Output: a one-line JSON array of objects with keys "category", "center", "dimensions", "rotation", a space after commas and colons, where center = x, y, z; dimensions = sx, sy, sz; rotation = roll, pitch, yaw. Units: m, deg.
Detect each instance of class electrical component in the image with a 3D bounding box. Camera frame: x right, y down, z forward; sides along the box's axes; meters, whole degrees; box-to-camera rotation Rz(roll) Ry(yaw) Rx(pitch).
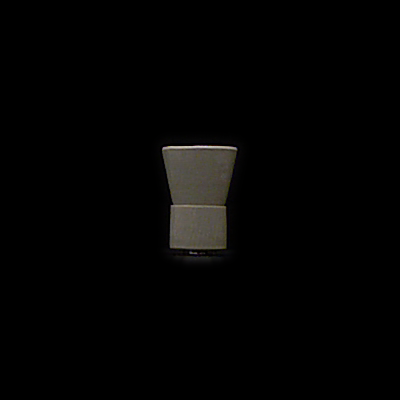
[{"category": "electrical component", "center": [0.000, 0.000, 0.647], "dimensions": [0.044, 0.065, 0.044], "rotation": [1, 2, 0]}]
